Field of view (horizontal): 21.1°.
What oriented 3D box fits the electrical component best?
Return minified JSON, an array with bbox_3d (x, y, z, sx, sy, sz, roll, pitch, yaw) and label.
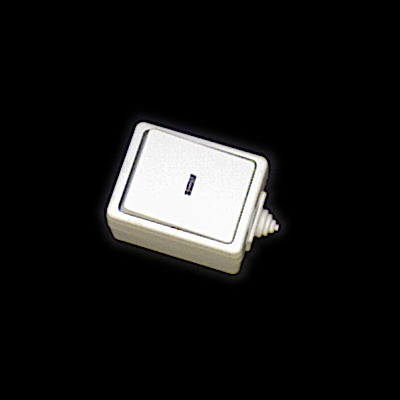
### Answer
[{"bbox_3d":[0.000,0.000,0.625,0.096,0.062,0.060,16,-16,5],"label":"electrical component"}]
